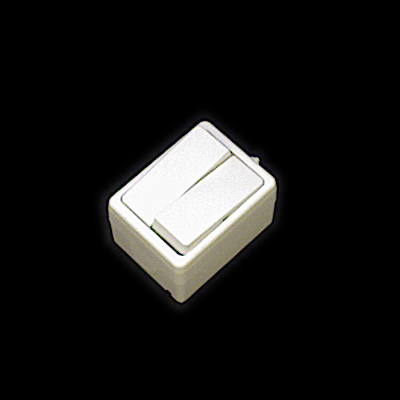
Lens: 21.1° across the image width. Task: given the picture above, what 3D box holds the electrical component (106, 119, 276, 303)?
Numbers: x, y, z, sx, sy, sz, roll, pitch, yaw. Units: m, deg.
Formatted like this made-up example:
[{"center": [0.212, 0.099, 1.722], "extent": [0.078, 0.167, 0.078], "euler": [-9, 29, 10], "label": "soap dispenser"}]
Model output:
[{"center": [0.000, 0.000, 0.627], "extent": [0.096, 0.062, 0.061], "euler": [-41, -21, -19], "label": "electrical component"}]
